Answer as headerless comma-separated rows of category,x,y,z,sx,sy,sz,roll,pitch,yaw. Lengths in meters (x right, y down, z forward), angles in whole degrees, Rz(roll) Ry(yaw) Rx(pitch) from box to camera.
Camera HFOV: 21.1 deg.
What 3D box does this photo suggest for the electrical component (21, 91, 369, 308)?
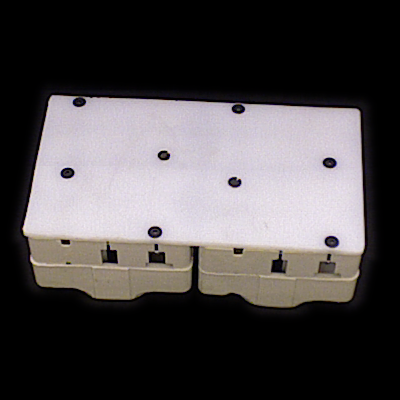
electrical component,0.000,0.000,0.627,0.186,0.105,0.060,3,-38,1
